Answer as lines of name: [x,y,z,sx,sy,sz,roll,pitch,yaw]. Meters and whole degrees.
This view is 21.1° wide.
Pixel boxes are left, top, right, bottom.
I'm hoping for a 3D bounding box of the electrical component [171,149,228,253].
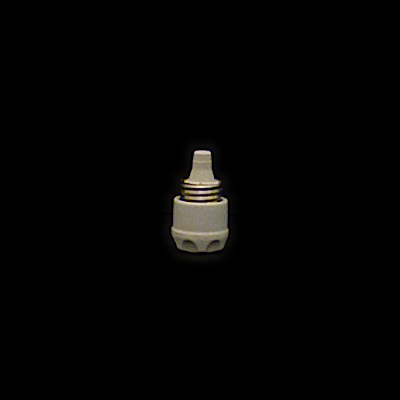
electrical component: [0.000,0.000,0.659,0.035,0.062,0.035,2,13,0]
